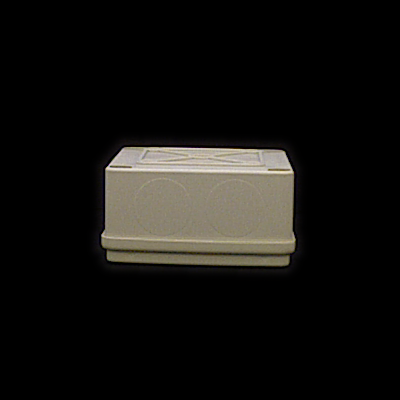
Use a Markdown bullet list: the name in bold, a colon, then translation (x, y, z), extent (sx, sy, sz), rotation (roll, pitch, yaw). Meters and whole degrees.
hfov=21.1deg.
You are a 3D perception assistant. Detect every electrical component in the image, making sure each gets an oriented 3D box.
- **electrical component**: translation (0.000, 0.000, 0.645), extent (0.109, 0.056, 0.108), rotation (1, 10, 1)
